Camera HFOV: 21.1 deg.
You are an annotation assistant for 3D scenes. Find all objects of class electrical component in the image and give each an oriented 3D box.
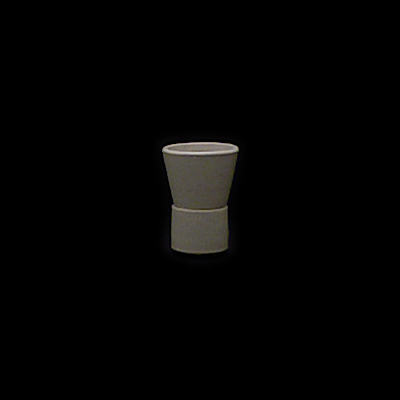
[{"bbox_3d":[0.000,0.000,0.641,0.044,0.066,0.044,1,12,0],"label":"electrical component"}]
